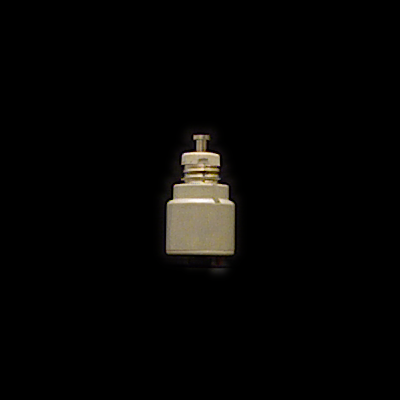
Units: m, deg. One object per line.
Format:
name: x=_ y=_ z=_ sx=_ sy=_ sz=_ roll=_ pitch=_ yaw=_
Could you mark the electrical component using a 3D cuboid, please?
electrical component: x=0.000 y=0.000 z=0.648 sx=0.040 sy=0.078 sz=0.040 roll=0 pitch=1 yaw=0
